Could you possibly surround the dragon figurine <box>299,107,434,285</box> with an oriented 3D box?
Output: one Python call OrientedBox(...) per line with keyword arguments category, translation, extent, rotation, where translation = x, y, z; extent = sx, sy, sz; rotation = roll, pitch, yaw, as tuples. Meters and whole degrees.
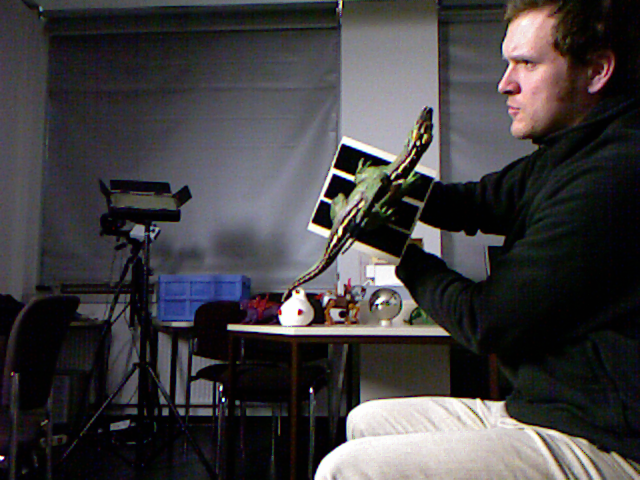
OrientedBox(category="dragon figurine", translation=(0.074, -0.053, 0.922), extent=(0.123, 0.410, 0.245), rotation=(35, 9, 2))
